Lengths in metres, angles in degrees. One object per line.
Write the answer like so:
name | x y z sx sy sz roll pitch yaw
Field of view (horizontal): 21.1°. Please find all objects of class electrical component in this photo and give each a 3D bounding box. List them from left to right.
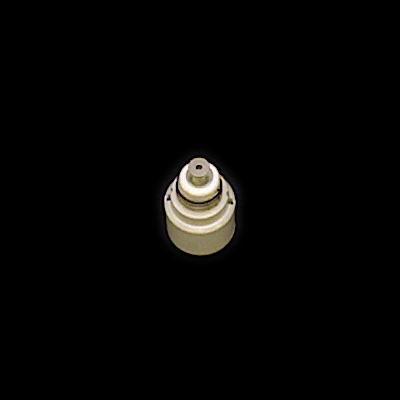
electrical component | 0.000 0.000 0.618 0.040 0.040 0.078 0 -27 1
